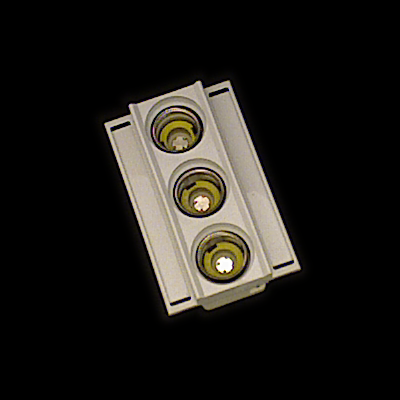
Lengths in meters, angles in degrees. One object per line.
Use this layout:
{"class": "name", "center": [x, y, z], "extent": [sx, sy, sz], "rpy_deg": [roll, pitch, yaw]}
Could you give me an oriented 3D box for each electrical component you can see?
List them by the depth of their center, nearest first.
{"class": "electrical component", "center": [0.000, 0.000, 0.636], "extent": [0.079, 0.121, 0.063], "rpy_deg": [-19, -15, -3]}
